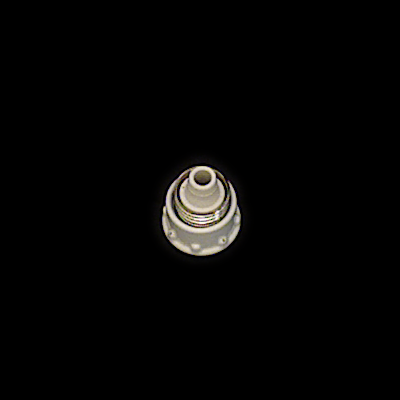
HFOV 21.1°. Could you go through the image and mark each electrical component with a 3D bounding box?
[{"bbox_3d":[0.000,0.000,0.634,0.048,0.048,0.062,0,-26,-1],"label":"electrical component"}]
